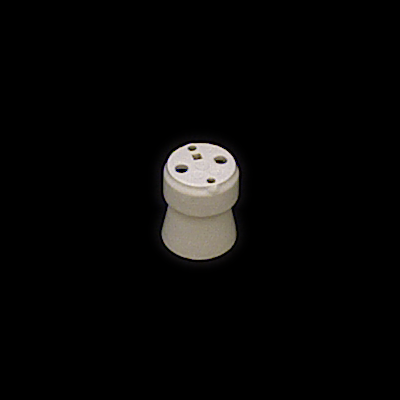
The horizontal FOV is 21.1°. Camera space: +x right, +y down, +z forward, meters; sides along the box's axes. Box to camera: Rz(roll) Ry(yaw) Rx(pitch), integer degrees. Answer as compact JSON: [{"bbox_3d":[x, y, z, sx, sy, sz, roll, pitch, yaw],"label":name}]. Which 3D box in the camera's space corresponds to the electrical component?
[{"bbox_3d":[0.000,0.000,0.633,0.045,0.055,0.044,1,42,-1],"label":"electrical component"}]
